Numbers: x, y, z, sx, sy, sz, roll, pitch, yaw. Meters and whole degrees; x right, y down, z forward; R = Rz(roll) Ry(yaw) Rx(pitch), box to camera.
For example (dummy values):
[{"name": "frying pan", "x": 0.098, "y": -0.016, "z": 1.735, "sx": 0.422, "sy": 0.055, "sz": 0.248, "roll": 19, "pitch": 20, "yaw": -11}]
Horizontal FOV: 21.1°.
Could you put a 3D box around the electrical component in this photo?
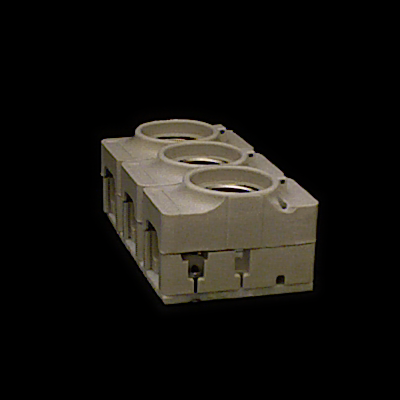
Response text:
[{"name": "electrical component", "x": 0.000, "y": 0.000, "z": 0.646, "sx": 0.089, "sy": 0.063, "sz": 0.147, "roll": -5, "pitch": 22, "yaw": -18}]
